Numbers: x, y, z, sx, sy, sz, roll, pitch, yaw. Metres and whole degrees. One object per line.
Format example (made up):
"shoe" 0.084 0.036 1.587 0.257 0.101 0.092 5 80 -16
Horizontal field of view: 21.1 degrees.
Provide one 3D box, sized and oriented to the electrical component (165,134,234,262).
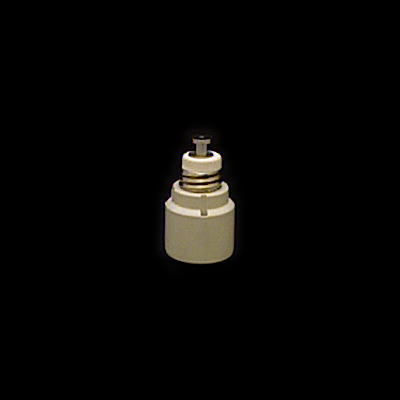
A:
"electrical component" 0.000 0.000 0.637 0.040 0.079 0.039 2 22 0
